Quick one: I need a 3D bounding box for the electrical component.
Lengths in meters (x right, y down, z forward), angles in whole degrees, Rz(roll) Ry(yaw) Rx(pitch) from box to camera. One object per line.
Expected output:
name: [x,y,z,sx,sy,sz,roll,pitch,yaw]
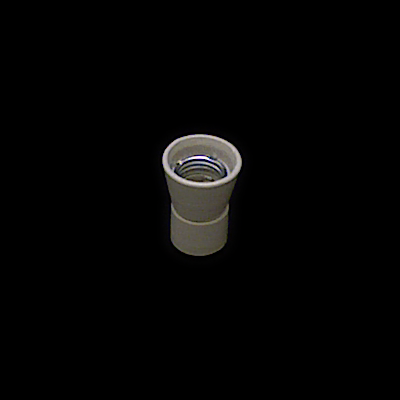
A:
electrical component: [0.000,0.000,0.629,0.044,0.066,0.044,1,42,-1]
